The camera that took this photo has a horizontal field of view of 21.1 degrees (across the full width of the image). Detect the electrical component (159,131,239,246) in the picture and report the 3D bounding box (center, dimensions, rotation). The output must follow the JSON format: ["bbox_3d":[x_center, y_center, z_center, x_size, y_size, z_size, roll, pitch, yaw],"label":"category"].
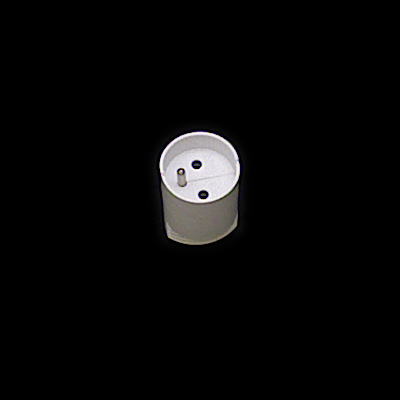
[{"bbox_3d":[0.000,0.000,0.615,0.043,0.043,0.081,0,-28,1],"label":"electrical component"}]
